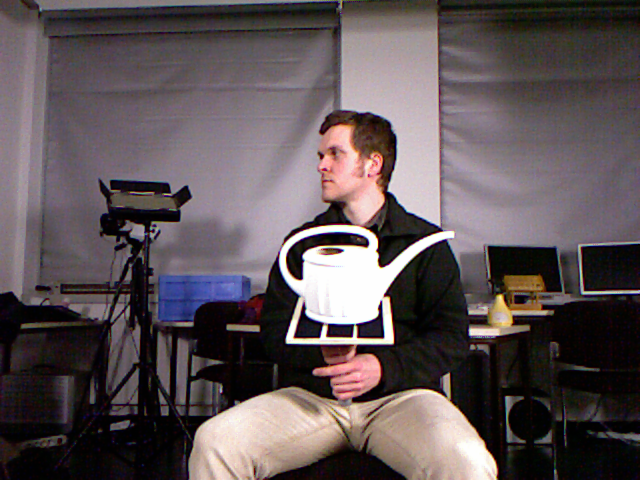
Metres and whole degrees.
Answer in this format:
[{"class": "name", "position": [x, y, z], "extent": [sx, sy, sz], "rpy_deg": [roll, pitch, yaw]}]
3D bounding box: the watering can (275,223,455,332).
[{"class": "watering can", "position": [0.085, 0.072, 1.015], "extent": [0.348, 0.221, 0.106], "rpy_deg": [0, 21, 6]}]
